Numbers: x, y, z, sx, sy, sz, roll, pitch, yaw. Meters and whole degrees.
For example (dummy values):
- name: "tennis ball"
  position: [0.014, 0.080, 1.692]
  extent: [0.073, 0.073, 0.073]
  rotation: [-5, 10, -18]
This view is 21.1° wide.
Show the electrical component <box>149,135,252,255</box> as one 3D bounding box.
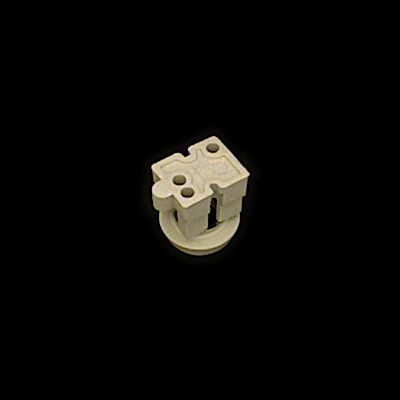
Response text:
- name: "electrical component"
  position: [0.000, 0.000, 0.637]
  extent: [0.067, 0.048, 0.055]
  rotation: [-27, -33, -20]
